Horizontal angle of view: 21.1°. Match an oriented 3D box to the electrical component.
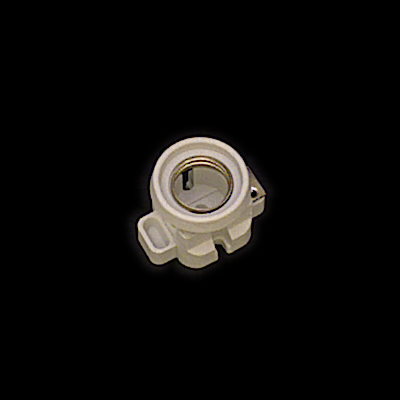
[{"bbox_3d":[0.000,0.000,0.629,0.079,0.057,0.057,-27,-24,-13],"label":"electrical component"}]
